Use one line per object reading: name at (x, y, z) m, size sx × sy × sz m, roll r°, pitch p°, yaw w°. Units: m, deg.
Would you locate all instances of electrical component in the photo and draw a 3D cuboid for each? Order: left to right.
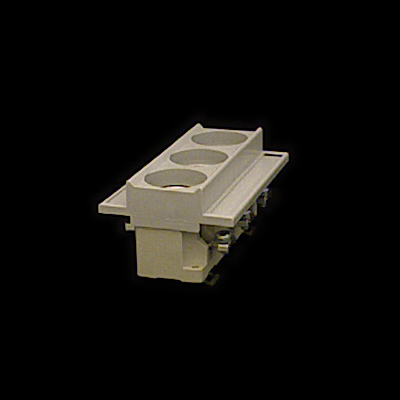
electrical component at (0.000, 0.000, 0.650) m, size 0.078 × 0.064 × 0.120 m, roll 6°, pitch 22°, yaw 18°
